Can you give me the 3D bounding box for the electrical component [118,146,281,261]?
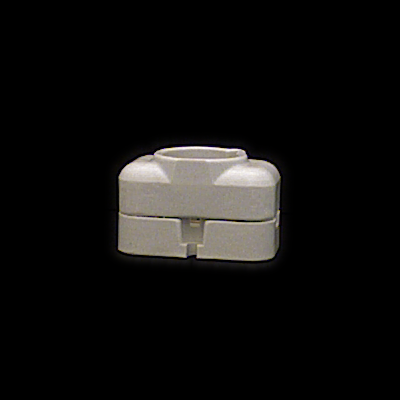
[{"bbox_3d":[0.000,0.000,0.652,0.095,0.060,0.053,3,12,9],"label":"electrical component"}]
